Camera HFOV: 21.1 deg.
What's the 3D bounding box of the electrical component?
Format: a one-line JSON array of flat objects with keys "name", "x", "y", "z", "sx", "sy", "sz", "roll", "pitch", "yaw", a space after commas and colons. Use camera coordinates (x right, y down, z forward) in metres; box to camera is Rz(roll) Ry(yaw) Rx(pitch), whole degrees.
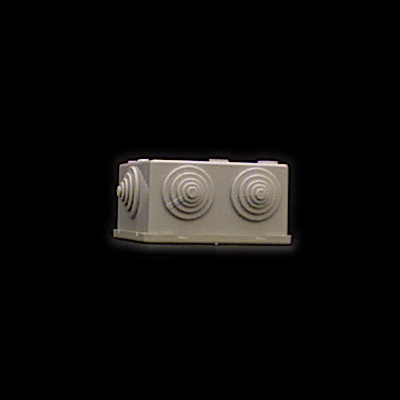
[{"name": "electrical component", "x": 0.000, "y": 0.000, "z": 0.650, "sx": 0.100, "sy": 0.048, "sz": 0.099, "roll": 1, "pitch": 0, "yaw": -17}]
